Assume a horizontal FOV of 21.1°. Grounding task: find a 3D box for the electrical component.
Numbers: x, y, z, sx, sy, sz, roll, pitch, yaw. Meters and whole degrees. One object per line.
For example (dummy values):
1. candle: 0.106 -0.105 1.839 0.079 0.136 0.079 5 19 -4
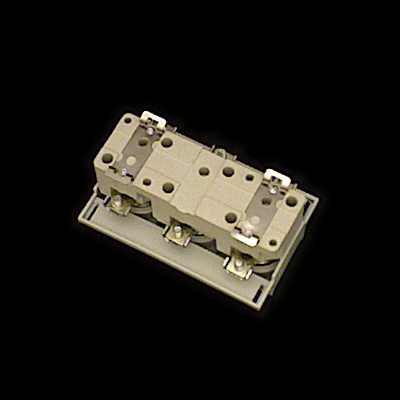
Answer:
1. electrical component: 0.000 0.000 0.632 0.121 0.079 0.063 25 -23 12
